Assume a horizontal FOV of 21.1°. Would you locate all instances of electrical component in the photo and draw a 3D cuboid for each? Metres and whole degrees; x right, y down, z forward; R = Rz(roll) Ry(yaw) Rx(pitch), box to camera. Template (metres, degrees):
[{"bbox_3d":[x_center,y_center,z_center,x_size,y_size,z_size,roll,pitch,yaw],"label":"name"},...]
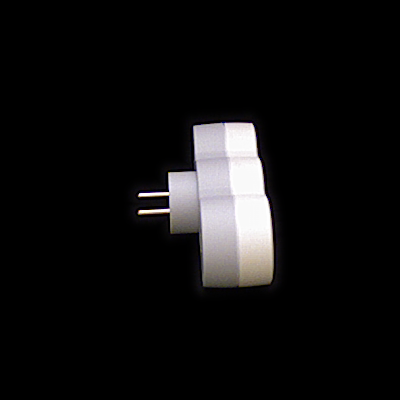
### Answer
[{"bbox_3d":[0.000,0.000,0.634,0.074,0.053,0.137,-3,33,-2],"label":"electrical component"}]
